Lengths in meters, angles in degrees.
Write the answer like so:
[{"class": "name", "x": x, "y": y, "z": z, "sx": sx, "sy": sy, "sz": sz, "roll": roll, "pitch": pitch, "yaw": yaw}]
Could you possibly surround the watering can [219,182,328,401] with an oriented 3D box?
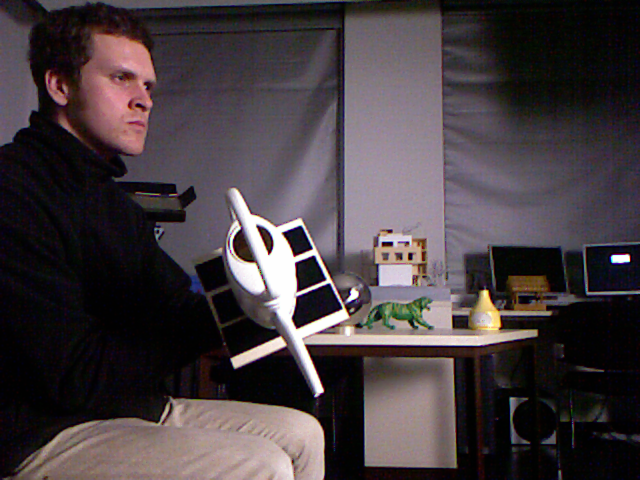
[{"class": "watering can", "x": -0.077, "y": 0.080, "z": 0.767, "sx": 0.105, "sy": 0.354, "sz": 0.221, "roll": -21, "pitch": -21, "yaw": -11}]
